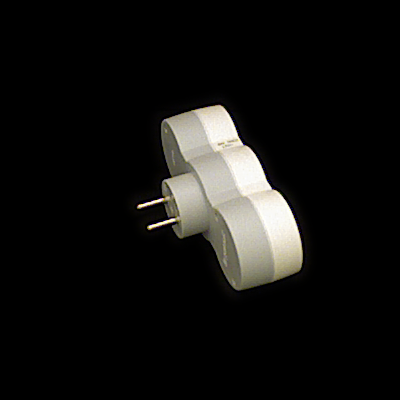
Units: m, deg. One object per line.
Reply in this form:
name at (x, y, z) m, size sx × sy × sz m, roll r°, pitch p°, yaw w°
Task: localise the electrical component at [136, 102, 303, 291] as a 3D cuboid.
electrical component at (0.000, 0.000, 0.641) m, size 0.074 × 0.053 × 0.136 m, roll -15°, pitch 45°, yaw -15°
